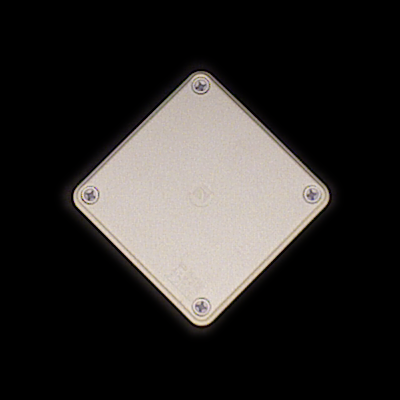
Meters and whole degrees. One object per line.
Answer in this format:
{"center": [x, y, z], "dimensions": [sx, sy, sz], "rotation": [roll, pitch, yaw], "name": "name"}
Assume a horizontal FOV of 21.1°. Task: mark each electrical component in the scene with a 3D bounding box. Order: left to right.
{"center": [0.000, 0.000, 0.631], "dimensions": [0.109, 0.109, 0.056], "rotation": [45, -5, 5], "name": "electrical component"}
